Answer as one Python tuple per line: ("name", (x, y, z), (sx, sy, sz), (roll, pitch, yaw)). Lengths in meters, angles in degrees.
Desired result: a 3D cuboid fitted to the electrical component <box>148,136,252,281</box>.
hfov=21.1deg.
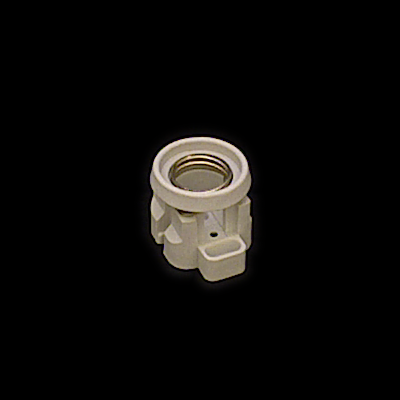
("electrical component", (0.000, 0.000, 0.632), (0.058, 0.057, 0.077), (-17, 45, -18))
